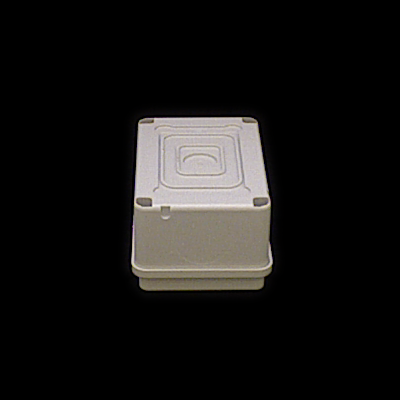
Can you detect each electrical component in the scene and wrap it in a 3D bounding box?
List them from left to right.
[{"bbox_3d":[0.000,0.000,0.635,0.078,0.058,0.111,0,31,-2],"label":"electrical component"}]
